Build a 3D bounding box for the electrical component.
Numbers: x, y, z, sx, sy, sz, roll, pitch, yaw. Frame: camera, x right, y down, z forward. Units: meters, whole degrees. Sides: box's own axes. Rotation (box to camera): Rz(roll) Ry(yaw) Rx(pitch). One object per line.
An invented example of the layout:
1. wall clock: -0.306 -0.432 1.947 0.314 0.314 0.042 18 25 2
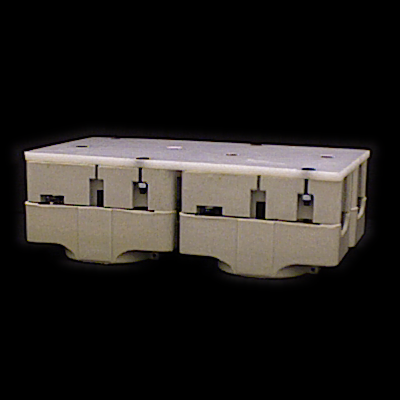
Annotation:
1. electrical component: 0.000 0.000 0.644 0.186 0.061 0.105 4 10 16
